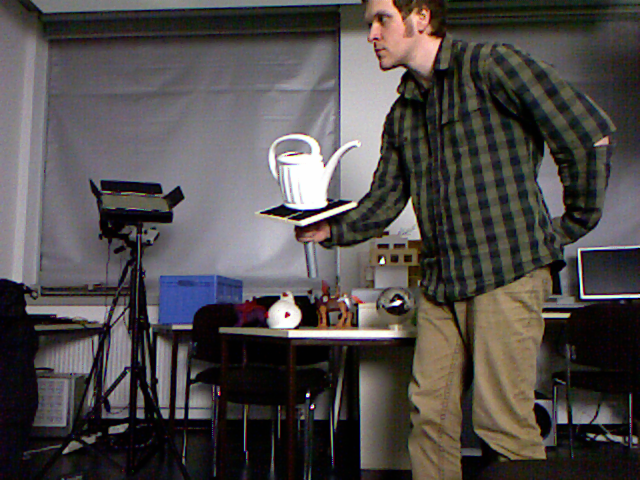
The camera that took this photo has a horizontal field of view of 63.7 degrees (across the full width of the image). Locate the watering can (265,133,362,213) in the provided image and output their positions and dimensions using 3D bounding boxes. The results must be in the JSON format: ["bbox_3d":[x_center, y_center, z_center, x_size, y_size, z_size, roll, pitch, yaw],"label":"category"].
[{"bbox_3d":[-0.021,-0.173,1.366,0.349,0.221,0.105,11,27,43],"label":"watering can"}]
